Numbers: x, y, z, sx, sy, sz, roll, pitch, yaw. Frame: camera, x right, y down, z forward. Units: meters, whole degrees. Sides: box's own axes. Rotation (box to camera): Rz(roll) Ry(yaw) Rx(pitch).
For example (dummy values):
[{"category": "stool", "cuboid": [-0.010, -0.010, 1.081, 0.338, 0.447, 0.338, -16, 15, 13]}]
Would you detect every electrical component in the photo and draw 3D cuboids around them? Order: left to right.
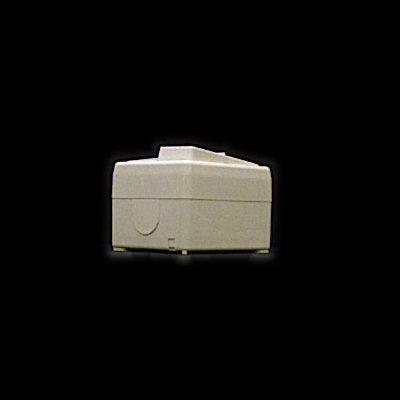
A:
[{"category": "electrical component", "cuboid": [0.000, 0.000, 0.652, 0.061, 0.061, 0.096, 2, 0, 42]}]
